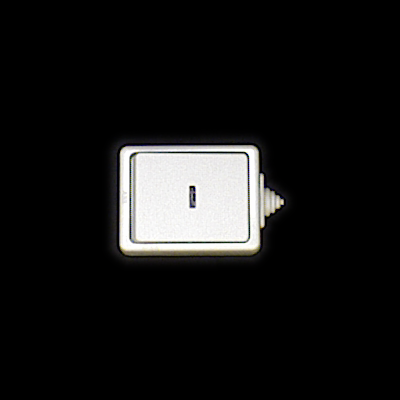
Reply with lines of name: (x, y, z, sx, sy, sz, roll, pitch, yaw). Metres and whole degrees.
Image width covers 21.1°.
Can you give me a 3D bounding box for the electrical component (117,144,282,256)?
electrical component: (0.000, 0.000, 0.627, 0.096, 0.062, 0.061, 0, -7, 0)
